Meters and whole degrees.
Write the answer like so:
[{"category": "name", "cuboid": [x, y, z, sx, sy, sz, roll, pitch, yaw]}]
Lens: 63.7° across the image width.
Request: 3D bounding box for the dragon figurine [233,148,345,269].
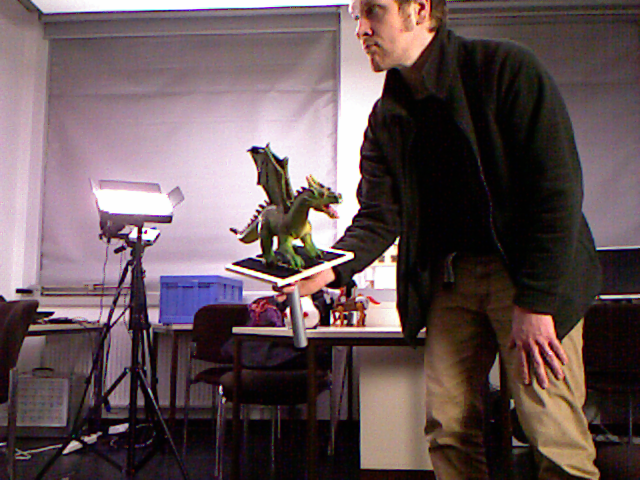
[{"category": "dragon figurine", "cuboid": [-0.101, -0.077, 1.085, 0.124, 0.240, 0.413, -22, 23, -38]}]
